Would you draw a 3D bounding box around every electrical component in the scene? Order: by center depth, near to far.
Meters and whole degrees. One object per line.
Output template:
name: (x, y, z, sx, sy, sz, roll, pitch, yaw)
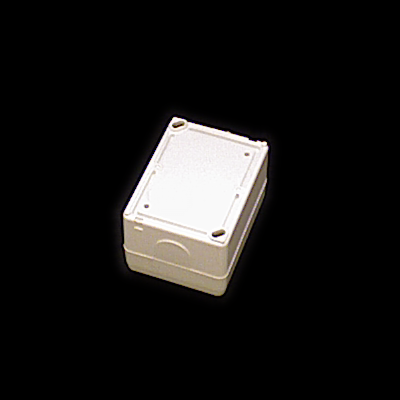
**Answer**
electrical component: (0.000, 0.000, 0.629, 0.061, 0.096, 0.061, 16, -37, 12)
